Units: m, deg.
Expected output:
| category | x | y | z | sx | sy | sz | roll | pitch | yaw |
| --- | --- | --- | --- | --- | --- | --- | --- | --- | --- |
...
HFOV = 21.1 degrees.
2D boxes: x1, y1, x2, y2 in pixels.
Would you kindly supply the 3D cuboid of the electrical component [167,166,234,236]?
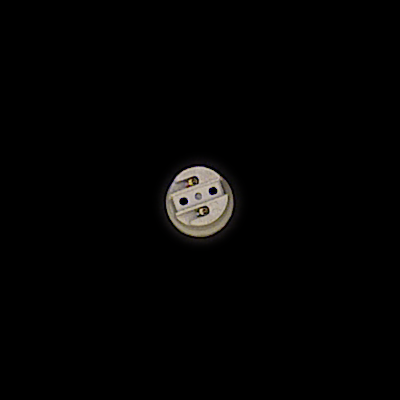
| category | x | y | z | sx | sy | sz | roll | pitch | yaw |
| --- | --- | --- | --- | --- | --- | --- | --- | --- | --- |
| electrical component | 0.000 | 0.000 | 0.634 | 0.040 | 0.040 | 0.046 | 0 | -7 | 0 |
